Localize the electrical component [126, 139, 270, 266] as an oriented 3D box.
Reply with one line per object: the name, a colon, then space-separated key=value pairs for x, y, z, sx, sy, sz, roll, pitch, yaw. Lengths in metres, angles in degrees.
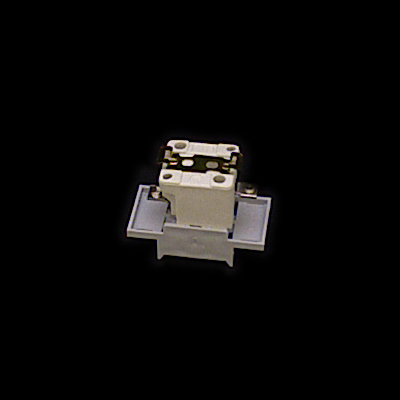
electrical component: x=0.000 y=0.000 z=0.629 sx=0.081 sy=0.064 sz=0.042 roll=6 pitch=42 yaw=5
